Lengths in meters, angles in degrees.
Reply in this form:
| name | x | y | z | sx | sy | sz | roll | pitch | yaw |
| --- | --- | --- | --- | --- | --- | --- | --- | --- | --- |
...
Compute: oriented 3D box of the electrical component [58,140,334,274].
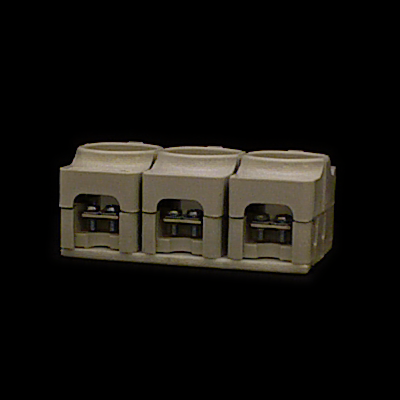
| name | x | y | z | sx | sy | sz | roll | pitch | yaw |
| --- | --- | --- | --- | --- | --- | --- | --- | --- | --- |
| electrical component | 0.000 | 0.000 | 0.652 | 0.150 | 0.062 | 0.089 | 4 | 10 | 14 |
